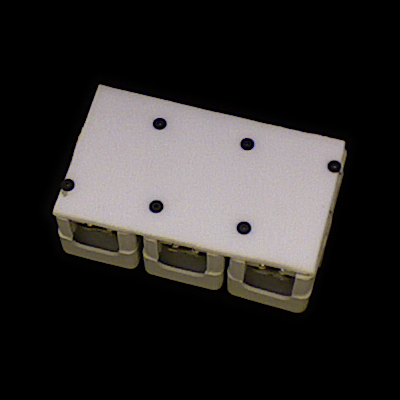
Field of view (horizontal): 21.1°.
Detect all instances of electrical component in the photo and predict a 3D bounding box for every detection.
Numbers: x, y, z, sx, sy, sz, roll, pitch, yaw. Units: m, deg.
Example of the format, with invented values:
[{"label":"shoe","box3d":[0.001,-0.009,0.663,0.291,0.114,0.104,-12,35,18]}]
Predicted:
[{"label":"electrical component","box3d":[0.000,0.000,0.632,0.150,0.089,0.062,14,-26,7]}]
